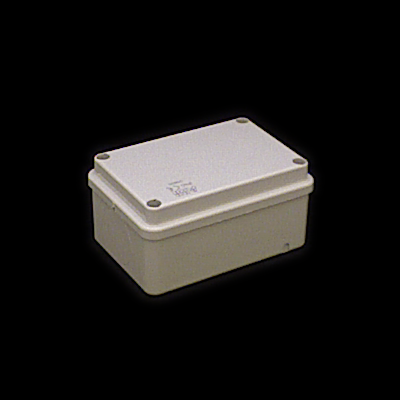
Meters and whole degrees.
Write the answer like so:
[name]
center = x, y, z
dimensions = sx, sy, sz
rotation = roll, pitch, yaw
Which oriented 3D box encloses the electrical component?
[electrical component]
center = 0.000, 0.000, 0.633
dimensions = 0.113, 0.058, 0.077
rotation = -17, 35, -27
